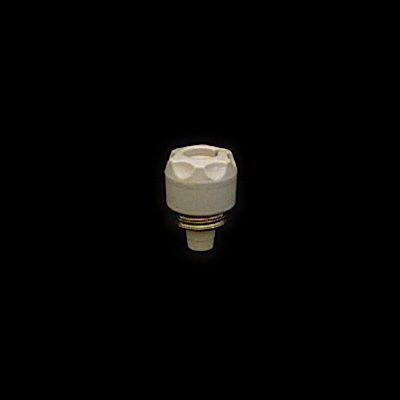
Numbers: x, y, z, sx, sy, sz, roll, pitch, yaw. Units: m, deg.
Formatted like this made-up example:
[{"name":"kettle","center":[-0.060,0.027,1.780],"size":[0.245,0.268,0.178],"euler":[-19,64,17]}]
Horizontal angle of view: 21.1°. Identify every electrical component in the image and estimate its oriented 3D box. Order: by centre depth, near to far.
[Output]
[{"name":"electrical component","center":[0.000,0.000,0.645],"size":[0.043,0.063,0.043],"euler":[1,23,0]}]
